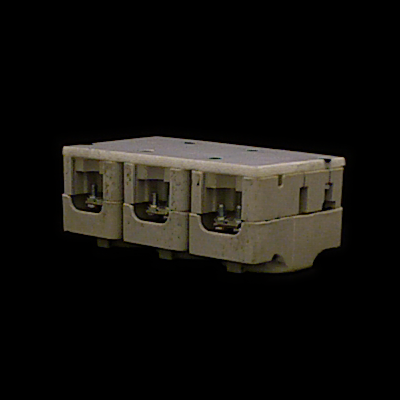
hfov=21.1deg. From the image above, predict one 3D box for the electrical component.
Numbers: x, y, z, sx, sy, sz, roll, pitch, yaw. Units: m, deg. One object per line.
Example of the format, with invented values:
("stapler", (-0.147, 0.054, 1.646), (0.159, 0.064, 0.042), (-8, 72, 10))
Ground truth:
("electrical component", (0.000, 0.000, 0.651), (0.149, 0.062, 0.089), (9, 12, 39))
